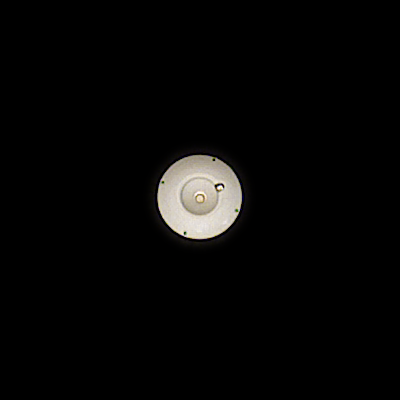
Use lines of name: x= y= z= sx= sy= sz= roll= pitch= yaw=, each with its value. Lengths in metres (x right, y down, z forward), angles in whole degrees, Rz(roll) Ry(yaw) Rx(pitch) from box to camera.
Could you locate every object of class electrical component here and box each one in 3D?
electrical component: x=0.000 y=0.000 z=0.634 sx=0.048 sy=0.048 sz=0.062 roll=0 pitch=-5 yaw=1
